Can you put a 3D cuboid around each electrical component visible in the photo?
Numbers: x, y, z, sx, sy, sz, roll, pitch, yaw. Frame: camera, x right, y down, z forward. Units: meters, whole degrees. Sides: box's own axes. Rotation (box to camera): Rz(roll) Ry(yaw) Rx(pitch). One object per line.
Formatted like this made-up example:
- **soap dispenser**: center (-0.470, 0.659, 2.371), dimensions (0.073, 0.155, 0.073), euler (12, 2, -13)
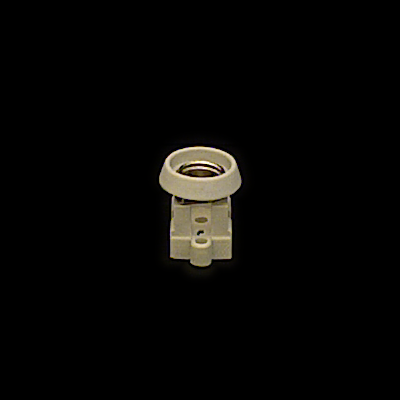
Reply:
- **electrical component**: center (0.000, 0.000, 0.643), dimensions (0.048, 0.056, 0.065), euler (1, 32, -2)
